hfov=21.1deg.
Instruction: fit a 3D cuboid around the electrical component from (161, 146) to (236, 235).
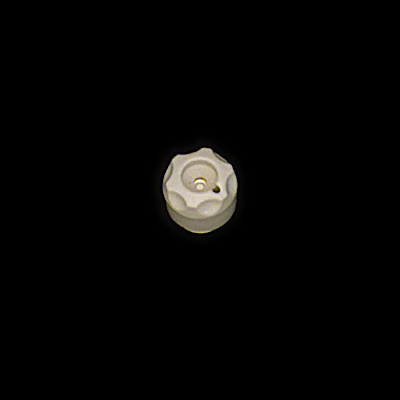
[{"bbox_3d":[0.000,0.000,0.634,0.043,0.043,0.062,0,-27,1],"label":"electrical component"}]
